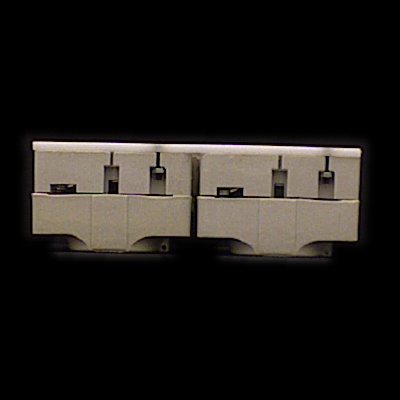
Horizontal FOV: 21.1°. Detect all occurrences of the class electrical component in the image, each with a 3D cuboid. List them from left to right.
[{"bbox_3d":[0.000,0.000,0.649,0.186,0.060,0.105,1,-1,5],"label":"electrical component"}]
